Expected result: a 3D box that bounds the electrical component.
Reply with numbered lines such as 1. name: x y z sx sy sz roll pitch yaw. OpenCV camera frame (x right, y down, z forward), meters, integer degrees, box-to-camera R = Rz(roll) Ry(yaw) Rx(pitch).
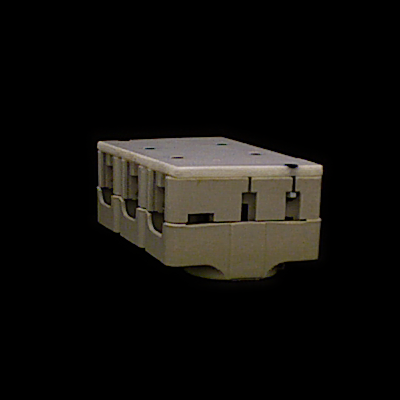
1. electrical component: 0.000 0.000 0.649 0.089 0.062 0.148 -3 11 -20
